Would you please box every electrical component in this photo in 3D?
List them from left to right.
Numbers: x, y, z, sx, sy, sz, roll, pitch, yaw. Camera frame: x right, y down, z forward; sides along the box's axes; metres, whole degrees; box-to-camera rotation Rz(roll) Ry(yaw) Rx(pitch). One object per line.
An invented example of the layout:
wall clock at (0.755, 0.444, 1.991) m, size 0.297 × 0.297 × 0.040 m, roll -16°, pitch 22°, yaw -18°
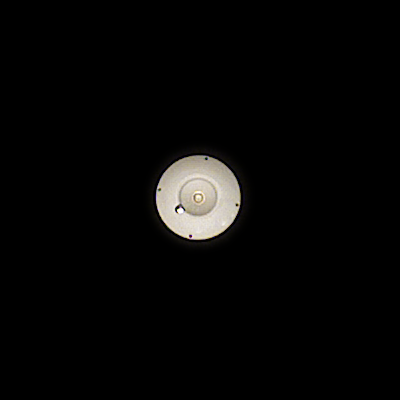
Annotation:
electrical component at (0.000, 0.000, 0.634) m, size 0.048 × 0.048 × 0.061 m, roll 0°, pitch -6°, yaw 1°
